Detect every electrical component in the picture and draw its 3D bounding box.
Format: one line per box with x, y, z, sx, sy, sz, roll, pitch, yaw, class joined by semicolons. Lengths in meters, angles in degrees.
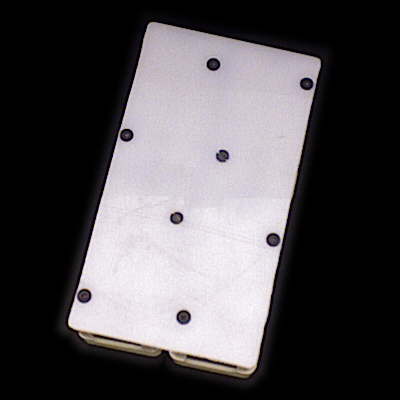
0.000;0.000;0.625;0.105;0.187;0.060;12;-17;3;electrical component
